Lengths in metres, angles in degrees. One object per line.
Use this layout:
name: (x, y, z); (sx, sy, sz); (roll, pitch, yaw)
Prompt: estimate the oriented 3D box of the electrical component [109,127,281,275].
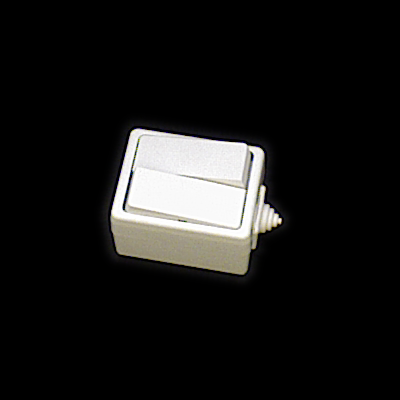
electrical component: (0.000, 0.000, 0.627); (0.096, 0.062, 0.061); (9, -27, 5)
